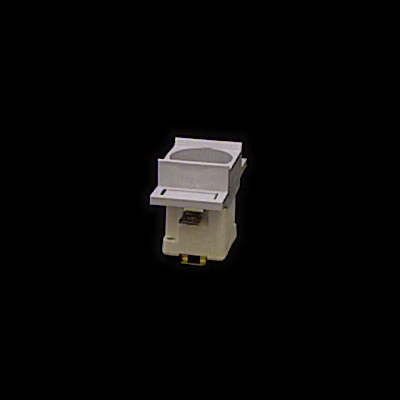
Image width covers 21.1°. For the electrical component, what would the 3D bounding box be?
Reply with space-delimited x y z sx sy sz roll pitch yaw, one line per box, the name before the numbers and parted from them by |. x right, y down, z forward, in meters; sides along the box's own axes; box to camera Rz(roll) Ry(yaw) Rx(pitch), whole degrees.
electrical component | 0.000 0.000 0.640 0.042 0.064 0.080 5 22 12
